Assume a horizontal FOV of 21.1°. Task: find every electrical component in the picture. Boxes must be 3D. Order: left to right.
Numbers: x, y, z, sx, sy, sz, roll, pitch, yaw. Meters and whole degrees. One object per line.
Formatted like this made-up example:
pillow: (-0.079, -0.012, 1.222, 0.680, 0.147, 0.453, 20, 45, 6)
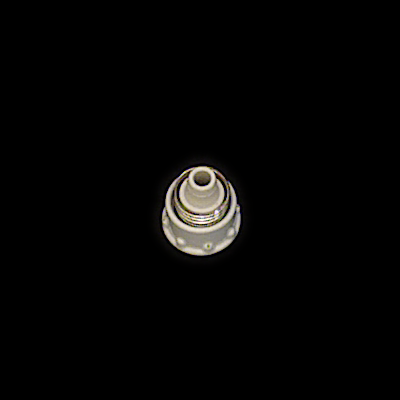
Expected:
electrical component: (0.000, 0.000, 0.634, 0.048, 0.048, 0.062, 0, -26, -1)
